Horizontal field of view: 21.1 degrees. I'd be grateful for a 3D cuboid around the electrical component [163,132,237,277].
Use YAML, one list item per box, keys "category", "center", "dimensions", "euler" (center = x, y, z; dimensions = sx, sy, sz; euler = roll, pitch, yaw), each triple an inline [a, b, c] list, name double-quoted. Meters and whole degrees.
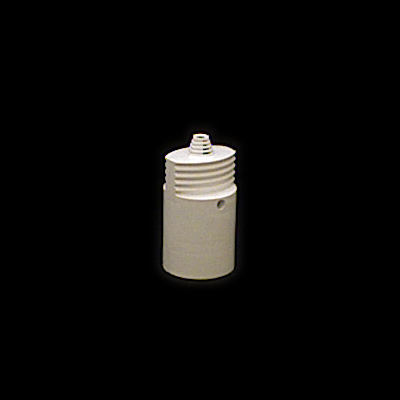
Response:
- category: "electrical component"
  center: [0.000, 0.000, 0.634]
  dimensions: [0.043, 0.082, 0.042]
  euler: [1, 21, 0]
